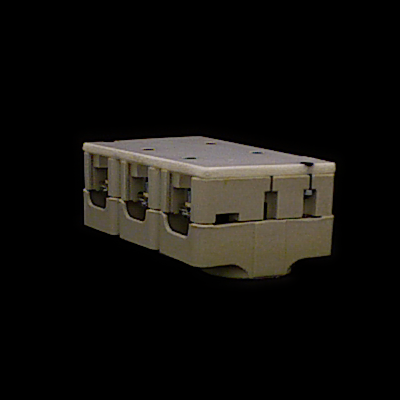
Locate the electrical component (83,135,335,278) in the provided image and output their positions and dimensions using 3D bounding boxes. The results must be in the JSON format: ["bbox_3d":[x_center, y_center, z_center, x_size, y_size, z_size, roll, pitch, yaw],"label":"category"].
[{"bbox_3d":[0.000,0.000,0.649,0.089,0.062,0.149,-5,12,-30],"label":"electrical component"}]
